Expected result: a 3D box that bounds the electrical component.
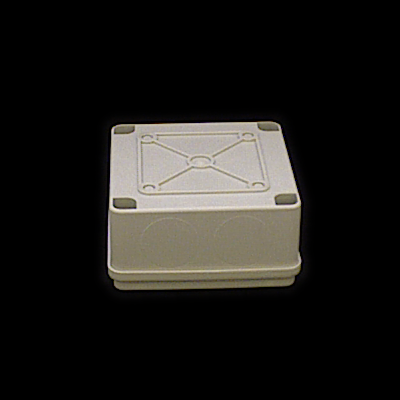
[{"bbox_3d":[0.000,0.000,0.635,0.109,0.057,0.107,-1,31,-4],"label":"electrical component"}]
